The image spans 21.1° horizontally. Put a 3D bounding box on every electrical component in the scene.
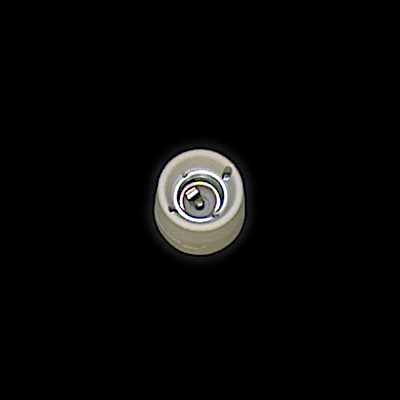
[{"bbox_3d":[0.000,0.000,0.633,0.055,0.056,0.047,0,-17,-1],"label":"electrical component"}]
